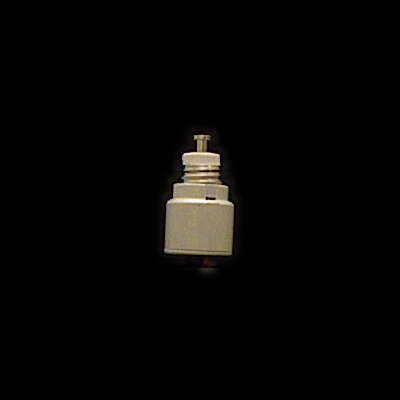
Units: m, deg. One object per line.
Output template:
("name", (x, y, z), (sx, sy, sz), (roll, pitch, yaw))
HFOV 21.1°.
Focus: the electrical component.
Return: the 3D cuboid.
("electrical component", (0.000, 0.000, 0.649), (0.040, 0.078, 0.040), (2, 0, 0))
